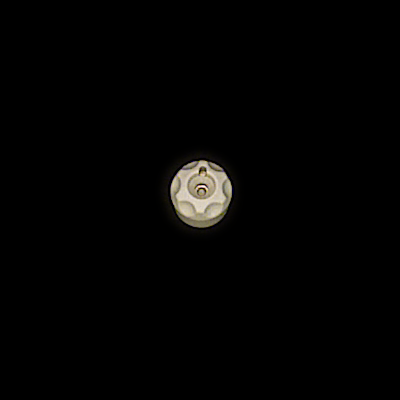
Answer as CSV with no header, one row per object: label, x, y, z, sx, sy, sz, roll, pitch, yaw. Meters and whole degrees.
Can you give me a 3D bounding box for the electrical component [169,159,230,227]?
electrical component,0.000,0.000,0.634,0.035,0.035,0.061,0,-16,1
